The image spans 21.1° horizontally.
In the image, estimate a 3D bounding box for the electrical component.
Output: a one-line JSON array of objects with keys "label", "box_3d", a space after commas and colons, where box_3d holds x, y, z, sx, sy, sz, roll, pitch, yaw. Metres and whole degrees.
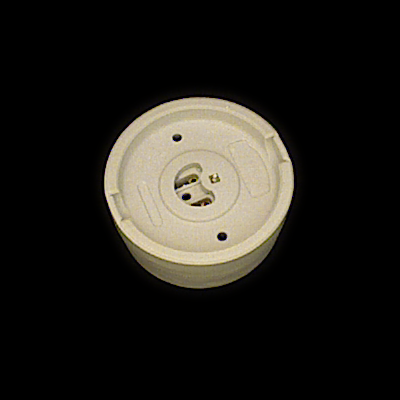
[{"label": "electrical component", "box_3d": [0.000, 0.000, 0.635, 0.108, 0.108, 0.060, 0, -27, 0]}]
